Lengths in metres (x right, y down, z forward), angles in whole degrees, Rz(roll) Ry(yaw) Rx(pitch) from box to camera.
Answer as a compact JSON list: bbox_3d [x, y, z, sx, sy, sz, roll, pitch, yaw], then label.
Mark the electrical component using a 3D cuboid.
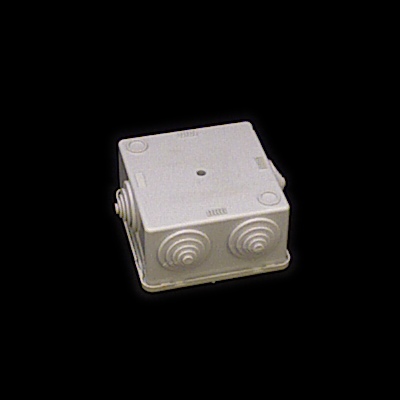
[{"bbox_3d":[0.000,0.000,0.635,0.100,0.049,0.098,-9,44,-11],"label":"electrical component"}]
